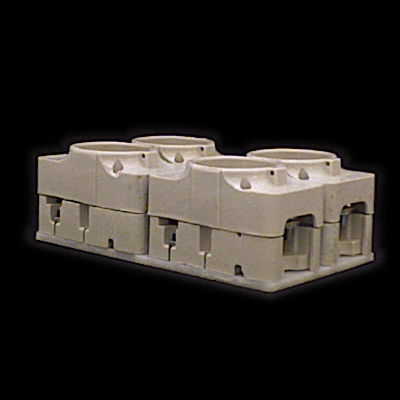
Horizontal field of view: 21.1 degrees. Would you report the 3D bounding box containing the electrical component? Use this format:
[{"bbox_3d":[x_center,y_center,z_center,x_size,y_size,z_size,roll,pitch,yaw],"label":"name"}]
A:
[{"bbox_3d":[0.000,0.000,0.645,0.185,0.061,0.105,10,13,39],"label":"electrical component"}]
